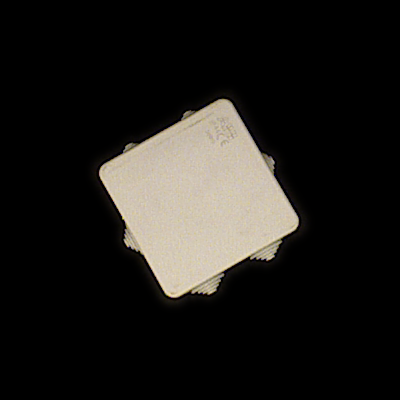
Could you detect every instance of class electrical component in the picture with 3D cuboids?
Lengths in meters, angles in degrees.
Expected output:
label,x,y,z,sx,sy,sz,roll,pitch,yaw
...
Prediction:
label,x,y,z,sx,sy,sz,roll,pitch,yaw
electrical component,0.000,0.000,0.642,0.100,0.100,0.048,-29,-5,-3
